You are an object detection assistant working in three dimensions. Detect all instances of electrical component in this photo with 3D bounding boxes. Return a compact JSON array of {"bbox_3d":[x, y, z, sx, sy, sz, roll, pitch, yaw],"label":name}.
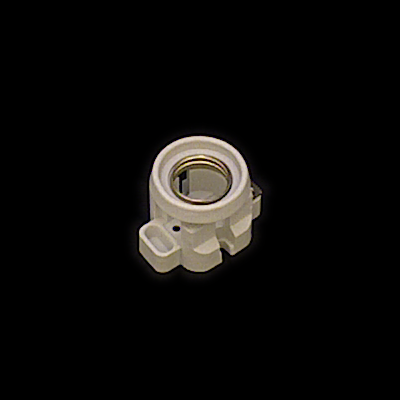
[{"bbox_3d":[0.000,0.000,0.630,0.078,0.057,0.057,-31,-31,-22],"label":"electrical component"}]
